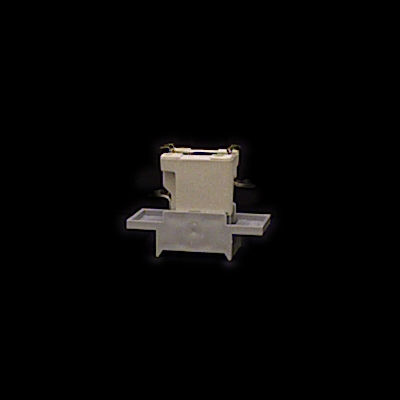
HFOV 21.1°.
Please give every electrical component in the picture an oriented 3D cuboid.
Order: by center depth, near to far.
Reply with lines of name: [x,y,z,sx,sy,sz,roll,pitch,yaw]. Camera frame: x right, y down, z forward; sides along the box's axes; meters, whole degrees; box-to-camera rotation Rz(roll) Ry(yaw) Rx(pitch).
electrical component: [0.000,0.000,0.643,0.081,0.064,0.042,3,11,9]
